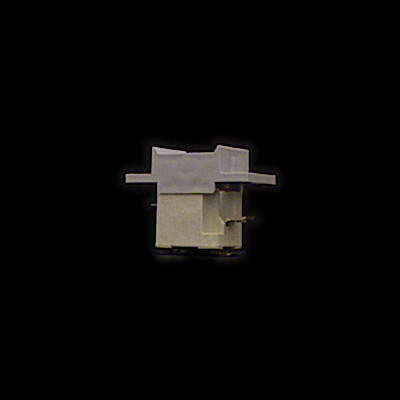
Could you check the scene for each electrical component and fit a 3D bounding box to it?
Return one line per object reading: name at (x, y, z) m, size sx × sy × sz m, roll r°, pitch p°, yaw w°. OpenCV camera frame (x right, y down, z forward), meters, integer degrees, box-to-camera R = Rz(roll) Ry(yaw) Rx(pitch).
electrical component at (0.000, 0.000, 0.649) m, size 0.081 × 0.063 × 0.042 m, roll 1°, pitch 0°, yaw 27°
